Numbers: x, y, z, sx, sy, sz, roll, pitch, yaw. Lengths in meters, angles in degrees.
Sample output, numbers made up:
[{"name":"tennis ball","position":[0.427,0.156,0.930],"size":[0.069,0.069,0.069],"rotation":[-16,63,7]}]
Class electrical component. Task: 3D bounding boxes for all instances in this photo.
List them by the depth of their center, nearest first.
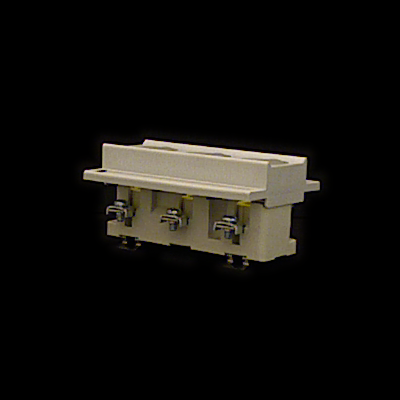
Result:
[{"name":"electrical component","position":[0.000,0.000,0.659],"size":[0.120,0.063,0.078],"rotation":[9,12,35]}]
